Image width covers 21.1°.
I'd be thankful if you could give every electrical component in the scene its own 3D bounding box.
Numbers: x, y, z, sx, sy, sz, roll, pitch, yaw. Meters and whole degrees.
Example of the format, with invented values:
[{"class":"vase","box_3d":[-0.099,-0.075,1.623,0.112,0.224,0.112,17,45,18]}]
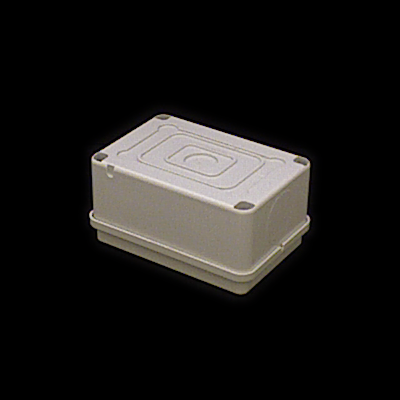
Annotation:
[{"class":"electrical component","box_3d":[0.000,0.000,0.635,0.112,0.058,0.077,20,36,27]}]
